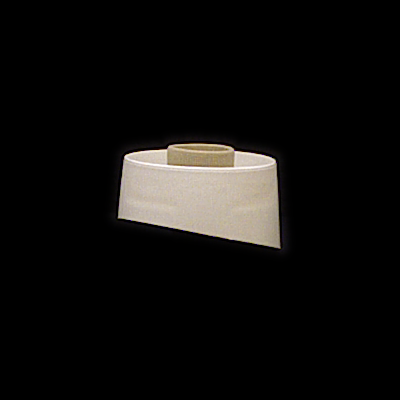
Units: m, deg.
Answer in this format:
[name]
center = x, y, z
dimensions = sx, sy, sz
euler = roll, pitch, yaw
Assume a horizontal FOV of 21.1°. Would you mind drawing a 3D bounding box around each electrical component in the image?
[electrical component]
center = 0.000, 0.000, 0.643
dimensions = 0.099, 0.064, 0.098
euler = 1, 10, 0
